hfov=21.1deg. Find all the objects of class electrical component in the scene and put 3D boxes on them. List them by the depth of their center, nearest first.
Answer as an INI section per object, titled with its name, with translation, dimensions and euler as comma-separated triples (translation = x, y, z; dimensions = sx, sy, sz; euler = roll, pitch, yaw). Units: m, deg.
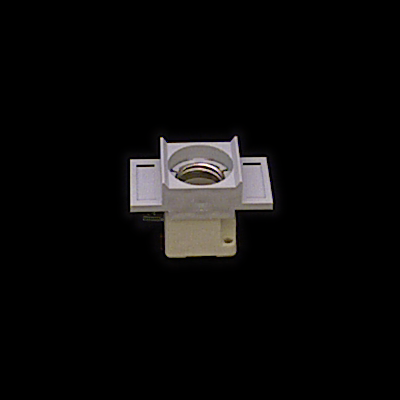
[electrical component]
translation = 0.000, 0.000, 0.628
dimensions = 0.081, 0.064, 0.042
euler = -1, 43, -3
